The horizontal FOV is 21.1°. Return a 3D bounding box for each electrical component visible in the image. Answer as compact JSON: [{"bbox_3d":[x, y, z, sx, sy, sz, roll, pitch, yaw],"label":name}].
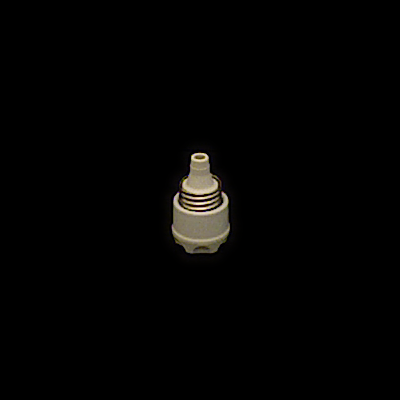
[{"bbox_3d":[0.000,0.000,0.645,0.035,0.062,0.034,-1,31,1],"label":"electrical component"}]
